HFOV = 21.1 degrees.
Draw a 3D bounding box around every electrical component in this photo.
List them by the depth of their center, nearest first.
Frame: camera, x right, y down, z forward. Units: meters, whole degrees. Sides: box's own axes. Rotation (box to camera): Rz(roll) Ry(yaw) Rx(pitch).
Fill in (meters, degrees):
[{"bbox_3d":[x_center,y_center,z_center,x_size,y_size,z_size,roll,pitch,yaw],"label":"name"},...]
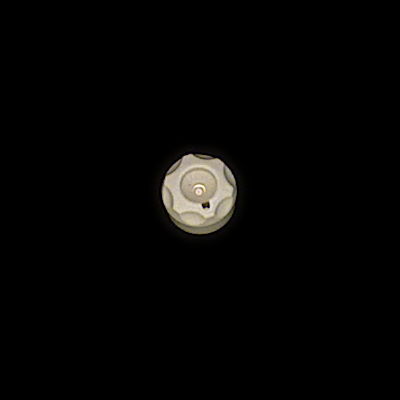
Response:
[{"bbox_3d":[0.000,0.000,0.634,0.043,0.043,0.061,0,-16,1],"label":"electrical component"}]
